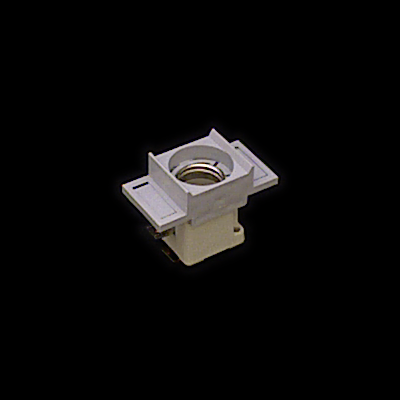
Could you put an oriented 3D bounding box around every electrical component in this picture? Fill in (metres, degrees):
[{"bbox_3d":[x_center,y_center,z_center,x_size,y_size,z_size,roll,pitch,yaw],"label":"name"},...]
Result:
[{"bbox_3d":[0.000,0.000,0.627,0.081,0.064,0.042,-22,47,-25],"label":"electrical component"}]
